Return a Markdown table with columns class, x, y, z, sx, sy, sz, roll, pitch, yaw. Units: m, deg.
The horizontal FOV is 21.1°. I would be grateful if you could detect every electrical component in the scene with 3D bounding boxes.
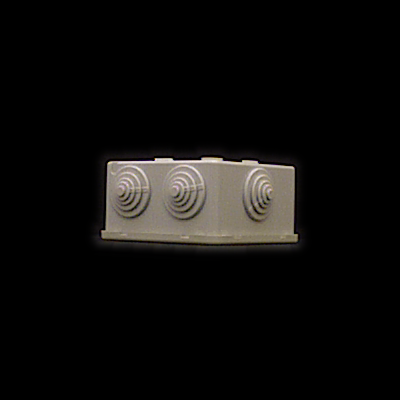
| class | x | y | z | sx | sy | sz | roll | pitch | yaw |
| --- | --- | --- | --- | --- | --- | --- | --- | --- | --- |
| electrical component | 0.000 | 0.000 | 0.650 | 0.099 | 0.048 | 0.100 | 1 | 0 | 38 |
